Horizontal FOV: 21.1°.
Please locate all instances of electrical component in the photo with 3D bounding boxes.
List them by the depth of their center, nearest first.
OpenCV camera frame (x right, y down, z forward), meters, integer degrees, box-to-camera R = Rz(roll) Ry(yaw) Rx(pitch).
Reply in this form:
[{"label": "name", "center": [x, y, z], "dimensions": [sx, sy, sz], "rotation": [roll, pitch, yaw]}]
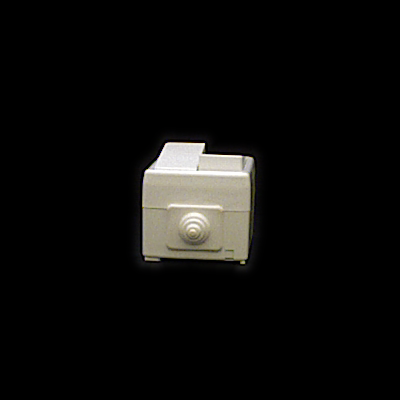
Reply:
[{"label": "electrical component", "center": [0.000, 0.000, 0.641], "dimensions": [0.062, 0.061, 0.095], "rotation": [2, 10, 5]}]
